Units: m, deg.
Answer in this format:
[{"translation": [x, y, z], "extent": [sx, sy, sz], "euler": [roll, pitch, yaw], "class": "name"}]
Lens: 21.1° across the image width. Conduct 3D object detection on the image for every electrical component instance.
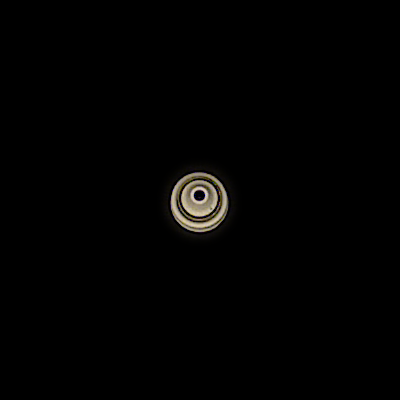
[{"translation": [0.000, 0.000, 0.637], "extent": [0.035, 0.035, 0.061], "euler": [0, -5, -1], "class": "electrical component"}]
